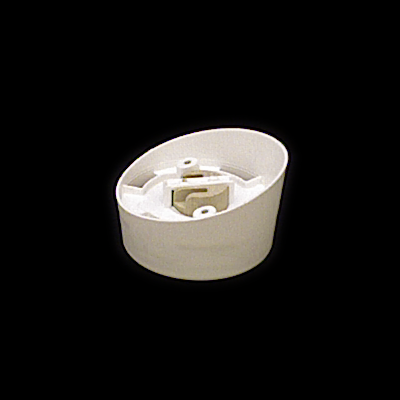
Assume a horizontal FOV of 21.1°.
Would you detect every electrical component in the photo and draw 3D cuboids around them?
[{"bbox_3d":[0.000,0.000,0.634,0.099,0.065,0.097,1,30,-1],"label":"electrical component"}]
